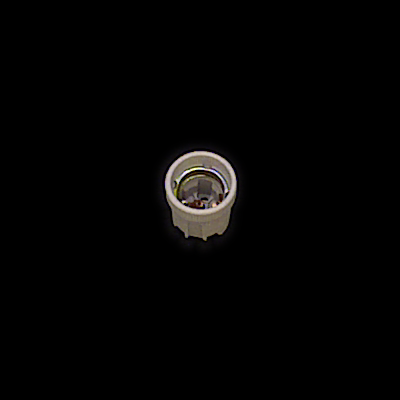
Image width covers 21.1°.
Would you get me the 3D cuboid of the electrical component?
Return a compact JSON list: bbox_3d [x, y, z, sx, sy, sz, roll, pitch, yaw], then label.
[{"bbox_3d":[0.000,0.000,0.627,0.040,0.040,0.046,0,-27,0],"label":"electrical component"}]
